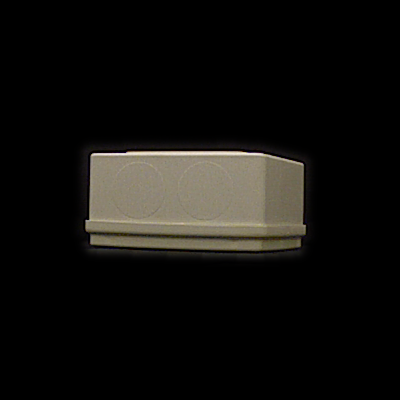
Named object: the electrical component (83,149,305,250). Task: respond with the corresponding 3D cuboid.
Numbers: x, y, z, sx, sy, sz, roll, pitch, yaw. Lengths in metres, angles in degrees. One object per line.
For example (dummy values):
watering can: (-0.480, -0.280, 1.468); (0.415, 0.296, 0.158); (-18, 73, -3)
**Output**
electrical component: (0.000, 0.000, 0.651); (0.108, 0.056, 0.109); (1, -1, 18)
